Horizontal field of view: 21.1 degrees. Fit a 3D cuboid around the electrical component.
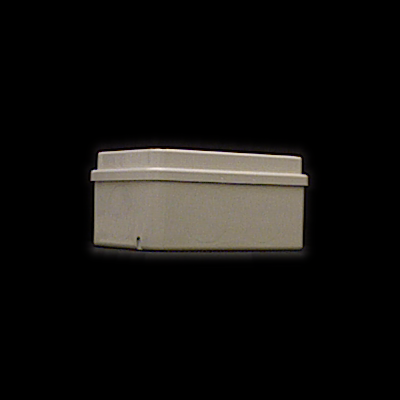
[{"bbox_3d":[0.000,0.000,0.651,0.114,0.057,0.078,1,0,-34],"label":"electrical component"}]
